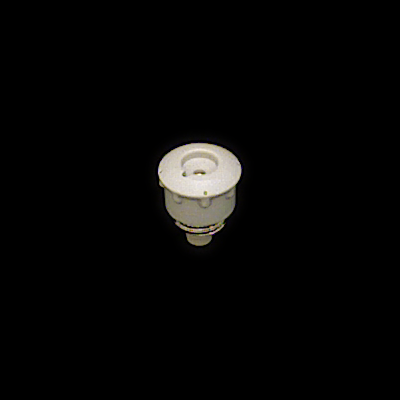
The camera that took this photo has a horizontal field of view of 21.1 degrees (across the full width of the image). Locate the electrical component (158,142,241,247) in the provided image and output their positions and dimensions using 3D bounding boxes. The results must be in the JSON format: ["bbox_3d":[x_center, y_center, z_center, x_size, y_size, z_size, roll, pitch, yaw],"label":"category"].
[{"bbox_3d":[0.000,0.000,0.636,0.048,0.062,0.047,0,43,0],"label":"electrical component"}]
